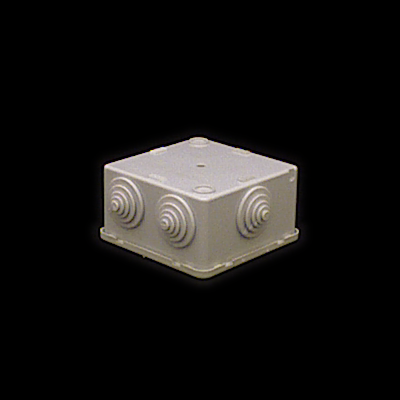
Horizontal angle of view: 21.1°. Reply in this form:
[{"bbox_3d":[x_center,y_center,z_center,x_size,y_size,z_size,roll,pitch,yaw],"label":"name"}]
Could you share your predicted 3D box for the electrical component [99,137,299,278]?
[{"bbox_3d":[0.000,0.000,0.640,0.099,0.049,0.099,19,27,39],"label":"electrical component"}]
